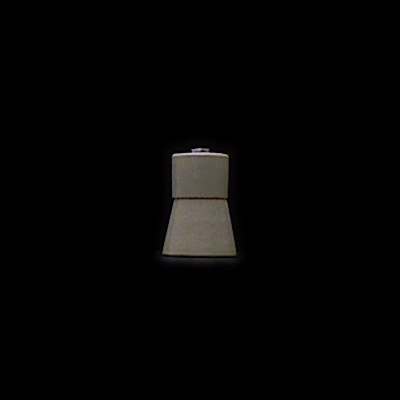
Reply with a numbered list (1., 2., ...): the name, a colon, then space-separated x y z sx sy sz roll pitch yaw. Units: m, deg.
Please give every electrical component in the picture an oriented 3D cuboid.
1. electrical component: 0.000 0.000 0.650 0.044 0.065 0.044 0 1 0
